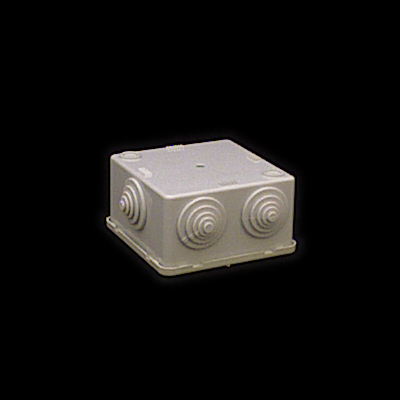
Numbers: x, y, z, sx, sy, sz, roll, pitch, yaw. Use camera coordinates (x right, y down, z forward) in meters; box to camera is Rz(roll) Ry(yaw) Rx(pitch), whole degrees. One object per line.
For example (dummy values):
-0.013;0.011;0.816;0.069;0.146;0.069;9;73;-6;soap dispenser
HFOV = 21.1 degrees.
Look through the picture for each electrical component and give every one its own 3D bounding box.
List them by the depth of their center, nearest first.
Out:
0.000;0.000;0.642;0.100;0.049;0.098;-9;23;-25;electrical component
